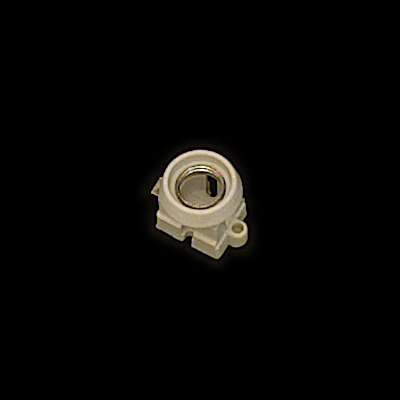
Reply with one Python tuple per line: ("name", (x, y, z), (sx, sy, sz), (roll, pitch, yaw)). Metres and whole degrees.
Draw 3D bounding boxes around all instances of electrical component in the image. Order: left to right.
("electrical component", (0.000, 0.000, 0.637), (0.066, 0.049, 0.055), (26, -25, 12))
